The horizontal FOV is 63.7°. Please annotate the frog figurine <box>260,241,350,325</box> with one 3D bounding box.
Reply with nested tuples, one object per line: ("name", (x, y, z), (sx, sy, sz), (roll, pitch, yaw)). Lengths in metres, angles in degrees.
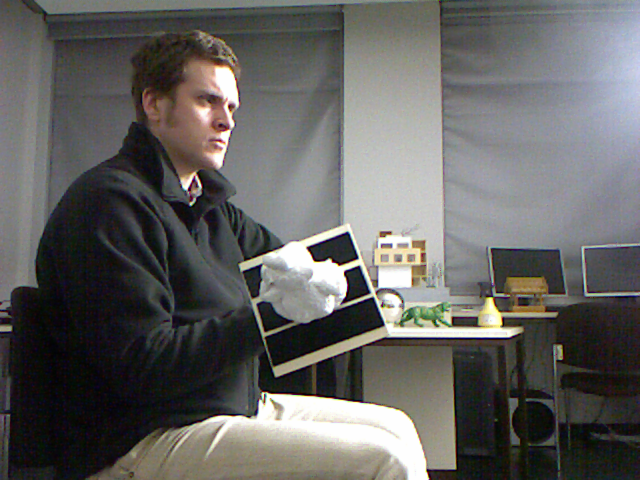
("frog figurine", (-0.027, 0.067, 0.790), (0.138, 0.124, 0.159), (0, -11, 10))
